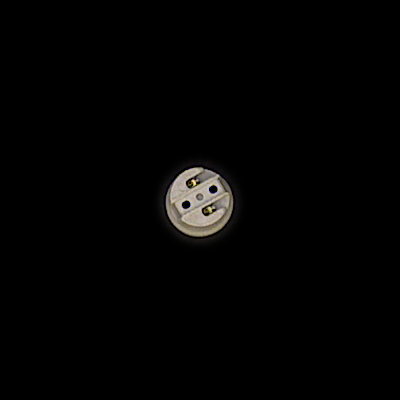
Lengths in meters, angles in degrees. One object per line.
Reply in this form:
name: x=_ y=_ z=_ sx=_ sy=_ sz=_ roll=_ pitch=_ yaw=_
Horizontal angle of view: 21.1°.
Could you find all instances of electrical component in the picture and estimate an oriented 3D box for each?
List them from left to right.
electrical component: x=0.000 y=0.000 z=0.634 sx=0.040 sy=0.040 sz=0.046 roll=0 pitch=-6 yaw=0
